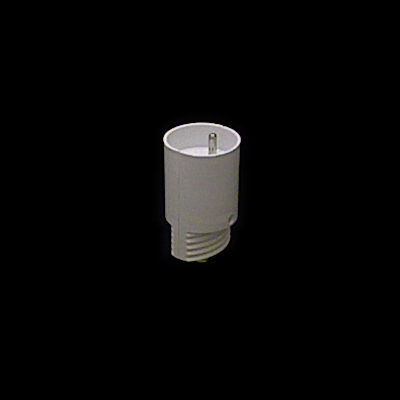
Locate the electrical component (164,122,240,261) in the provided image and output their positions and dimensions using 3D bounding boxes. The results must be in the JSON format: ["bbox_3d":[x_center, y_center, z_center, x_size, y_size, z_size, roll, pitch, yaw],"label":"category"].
[{"bbox_3d":[0.000,0.000,0.630,0.043,0.082,0.042,1,31,-1],"label":"electrical component"}]
